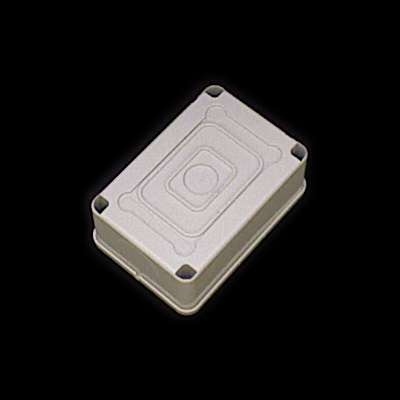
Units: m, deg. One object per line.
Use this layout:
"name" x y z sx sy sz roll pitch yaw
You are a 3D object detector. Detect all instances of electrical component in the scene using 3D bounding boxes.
"electrical component" 0.000 0.000 0.628 0.078 0.113 0.057 37 -21 17
